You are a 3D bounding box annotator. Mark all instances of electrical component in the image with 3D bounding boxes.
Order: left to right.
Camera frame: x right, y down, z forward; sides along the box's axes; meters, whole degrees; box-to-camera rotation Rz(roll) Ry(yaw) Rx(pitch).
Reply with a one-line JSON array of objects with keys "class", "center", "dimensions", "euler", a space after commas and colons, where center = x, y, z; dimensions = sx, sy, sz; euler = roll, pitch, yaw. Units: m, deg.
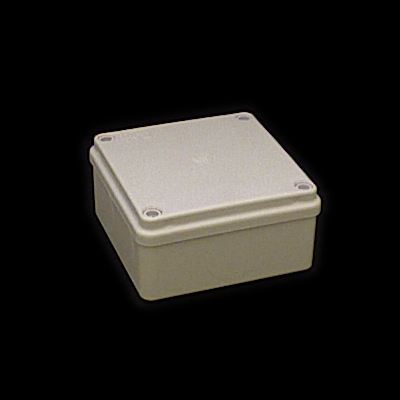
[{"class": "electrical component", "center": [0.000, 0.000, 0.634], "dimensions": [0.109, 0.057, 0.107], "euler": [-10, 34, -18]}]
